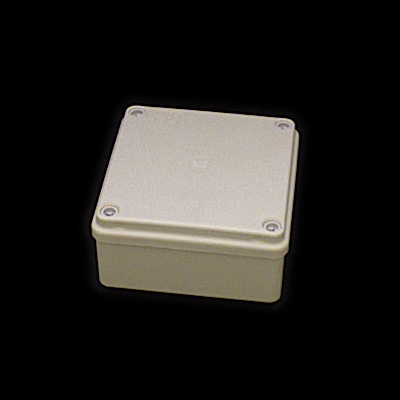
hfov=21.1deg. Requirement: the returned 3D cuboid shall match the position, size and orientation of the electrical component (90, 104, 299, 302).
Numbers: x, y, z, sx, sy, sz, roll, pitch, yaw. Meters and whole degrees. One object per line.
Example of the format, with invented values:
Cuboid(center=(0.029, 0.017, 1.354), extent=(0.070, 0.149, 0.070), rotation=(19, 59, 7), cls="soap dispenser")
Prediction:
Cuboid(center=(0.000, 0.000, 0.631), extent=(0.109, 0.056, 0.108), rotation=(5, 43, 5), cls="electrical component")
